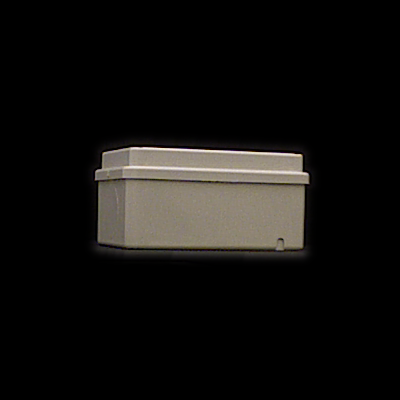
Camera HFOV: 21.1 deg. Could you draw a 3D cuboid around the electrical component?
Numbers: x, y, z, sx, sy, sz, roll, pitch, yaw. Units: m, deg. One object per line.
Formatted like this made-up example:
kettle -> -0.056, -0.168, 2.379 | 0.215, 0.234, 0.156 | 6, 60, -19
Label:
electrical component -> 0.000, 0.000, 0.647 | 0.113, 0.057, 0.078 | 2, 0, -20
